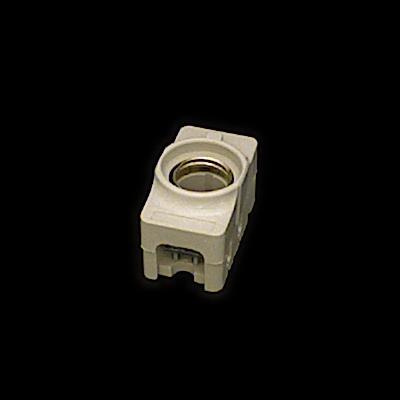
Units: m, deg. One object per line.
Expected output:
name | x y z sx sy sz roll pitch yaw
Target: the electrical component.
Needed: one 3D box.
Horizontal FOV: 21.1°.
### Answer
electrical component | 0.000 0.000 0.639 0.050 0.056 0.089 11 44 11
